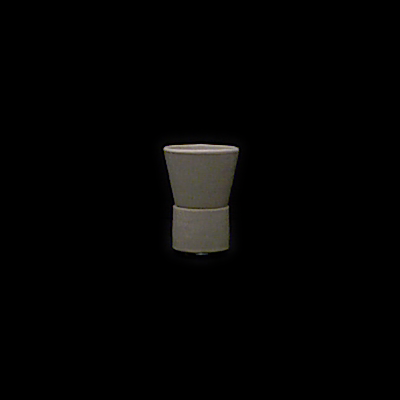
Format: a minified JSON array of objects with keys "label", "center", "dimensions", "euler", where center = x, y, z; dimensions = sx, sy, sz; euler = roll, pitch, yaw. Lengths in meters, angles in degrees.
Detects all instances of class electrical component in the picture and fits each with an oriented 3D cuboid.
[{"label":"electrical component","center":[0.000,0.000,0.645],"dimensions":[0.044,0.066,0.044],"euler":[0,10,0]}]
